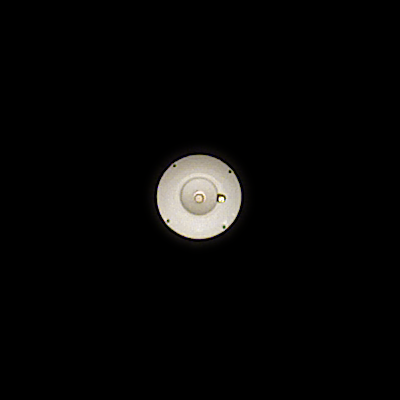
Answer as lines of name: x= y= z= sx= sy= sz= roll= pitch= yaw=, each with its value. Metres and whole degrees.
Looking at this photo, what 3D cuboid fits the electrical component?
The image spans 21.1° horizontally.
electrical component: x=0.000 y=0.000 z=0.635 sx=0.048 sy=0.048 sz=0.062 roll=0 pitch=-6 yaw=1
